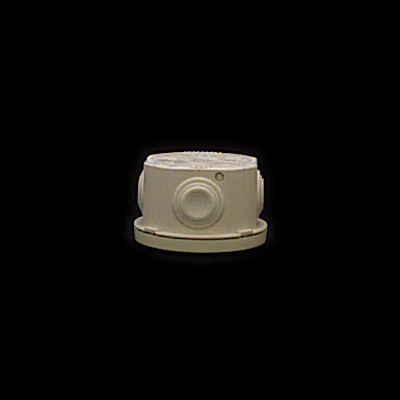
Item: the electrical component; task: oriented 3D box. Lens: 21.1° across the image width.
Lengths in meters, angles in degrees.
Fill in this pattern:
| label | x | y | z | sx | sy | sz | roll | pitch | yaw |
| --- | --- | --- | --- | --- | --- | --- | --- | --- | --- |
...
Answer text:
| label | x | y | z | sx | sy | sz | roll | pitch | yaw |
| --- | --- | --- | --- | --- | --- | --- | --- | --- | --- |
| electrical component | 0.000 | 0.000 | 0.644 | 0.080 | 0.051 | 0.079 | 1 | 11 | 0 |
